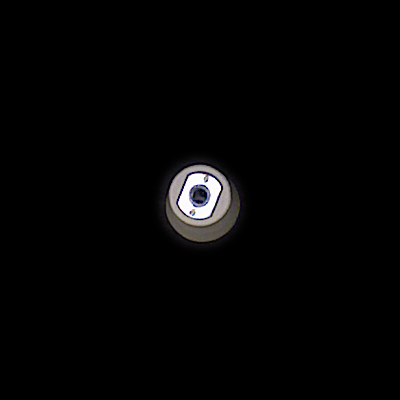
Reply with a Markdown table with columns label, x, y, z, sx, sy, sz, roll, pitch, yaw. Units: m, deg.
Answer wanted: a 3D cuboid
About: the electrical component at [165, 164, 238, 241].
| label | x | y | z | sx | sy | sz | roll | pitch | yaw |
| --- | --- | --- | --- | --- | --- | --- | --- | --- | --- |
| electrical component | 0.000 | 0.000 | 0.626 | 0.044 | 0.044 | 0.065 | 0 | -6 | 2 |
